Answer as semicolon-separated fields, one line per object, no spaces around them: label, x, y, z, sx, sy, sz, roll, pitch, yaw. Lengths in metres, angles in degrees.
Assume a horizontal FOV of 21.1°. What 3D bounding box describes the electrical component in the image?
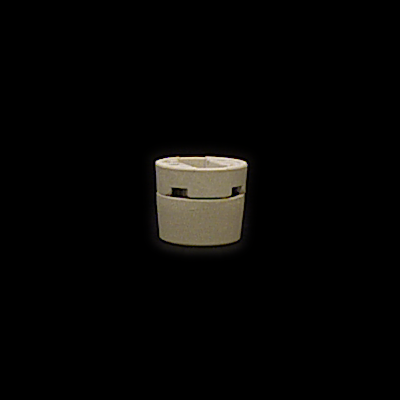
electrical component;0.000;0.000;0.647;0.055;0.047;0.055;2;11;0
